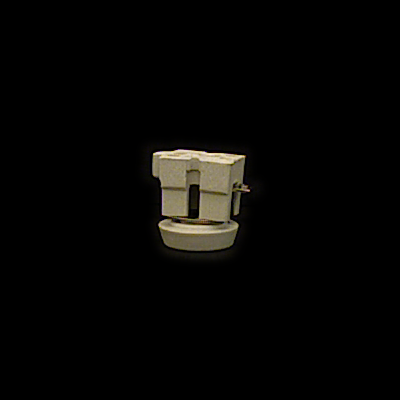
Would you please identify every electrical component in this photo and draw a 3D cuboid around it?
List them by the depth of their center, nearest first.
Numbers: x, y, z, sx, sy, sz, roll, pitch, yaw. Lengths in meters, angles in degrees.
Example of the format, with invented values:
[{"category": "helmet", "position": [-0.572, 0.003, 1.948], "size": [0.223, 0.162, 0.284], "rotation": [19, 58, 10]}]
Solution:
[{"category": "electrical component", "position": [0.000, 0.000, 0.651], "size": [0.066, 0.056, 0.048], "rotation": [5, 11, 15]}]
